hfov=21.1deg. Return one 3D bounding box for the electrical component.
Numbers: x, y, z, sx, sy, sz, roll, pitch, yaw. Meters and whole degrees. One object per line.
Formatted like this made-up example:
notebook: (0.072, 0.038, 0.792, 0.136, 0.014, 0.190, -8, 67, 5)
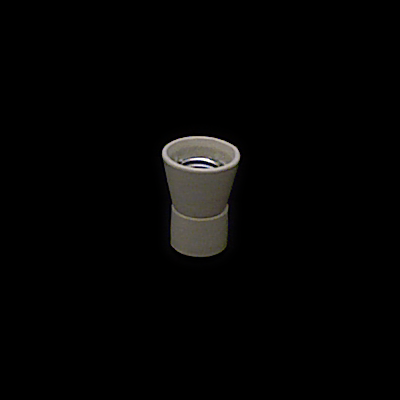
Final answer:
electrical component: (0.000, 0.000, 0.635, 0.044, 0.066, 0.044, 1, 30, 0)
